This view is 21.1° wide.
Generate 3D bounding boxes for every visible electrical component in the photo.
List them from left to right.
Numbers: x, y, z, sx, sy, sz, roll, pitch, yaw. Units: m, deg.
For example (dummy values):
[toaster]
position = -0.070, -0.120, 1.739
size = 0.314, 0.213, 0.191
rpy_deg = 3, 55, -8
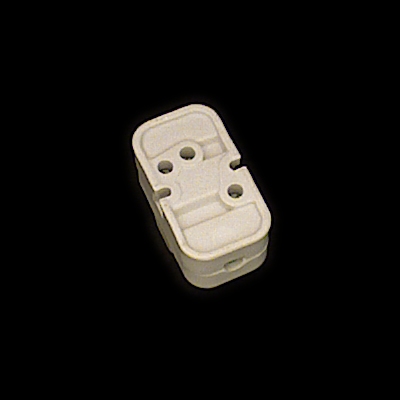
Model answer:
[electrical component]
position = 0.000, 0.000, 0.634
size = 0.054, 0.095, 0.059
rpy_deg = -22, -24, -10
